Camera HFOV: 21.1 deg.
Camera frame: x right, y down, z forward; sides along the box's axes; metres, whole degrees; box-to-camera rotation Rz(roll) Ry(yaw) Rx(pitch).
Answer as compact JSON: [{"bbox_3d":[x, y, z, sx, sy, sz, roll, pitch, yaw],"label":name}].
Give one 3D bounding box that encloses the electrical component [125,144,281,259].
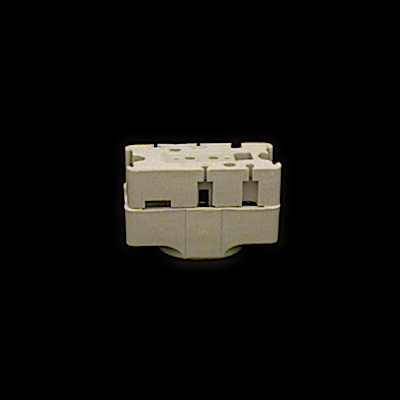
[{"bbox_3d":[0.000,0.000,0.647,0.090,0.056,0.049,-1,21,-6],"label":"electrical component"}]
